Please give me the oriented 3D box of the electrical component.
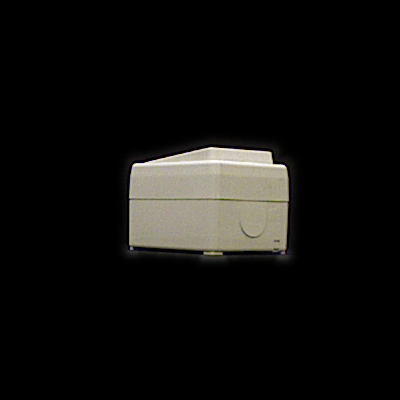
[{"bbox_3d":[0.001,0.000,0.652,0.062,0.061,0.096,1,0,-41],"label":"electrical component"}]
